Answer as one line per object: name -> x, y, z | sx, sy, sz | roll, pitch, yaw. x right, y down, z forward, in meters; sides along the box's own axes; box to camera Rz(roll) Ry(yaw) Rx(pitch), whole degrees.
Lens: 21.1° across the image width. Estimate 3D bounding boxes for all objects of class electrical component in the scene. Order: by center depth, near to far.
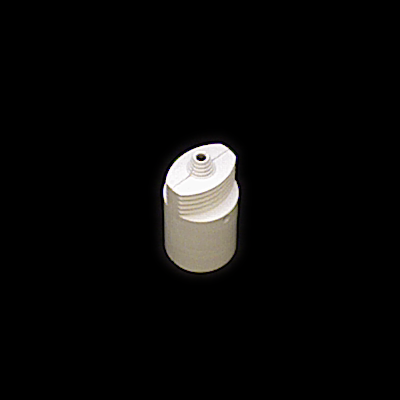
electrical component -> 0.000, 0.000, 0.619 | 0.043, 0.043, 0.081 | 0, -38, 0
